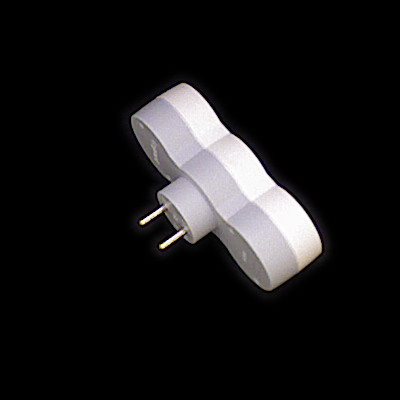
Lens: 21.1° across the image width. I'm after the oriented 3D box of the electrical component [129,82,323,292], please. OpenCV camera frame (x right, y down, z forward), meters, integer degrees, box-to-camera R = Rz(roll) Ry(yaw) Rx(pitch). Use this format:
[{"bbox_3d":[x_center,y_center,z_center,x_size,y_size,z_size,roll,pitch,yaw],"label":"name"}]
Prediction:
[{"bbox_3d":[0.000,0.000,0.629,0.074,0.138,0.052,-35,-21,-15],"label":"electrical component"}]
